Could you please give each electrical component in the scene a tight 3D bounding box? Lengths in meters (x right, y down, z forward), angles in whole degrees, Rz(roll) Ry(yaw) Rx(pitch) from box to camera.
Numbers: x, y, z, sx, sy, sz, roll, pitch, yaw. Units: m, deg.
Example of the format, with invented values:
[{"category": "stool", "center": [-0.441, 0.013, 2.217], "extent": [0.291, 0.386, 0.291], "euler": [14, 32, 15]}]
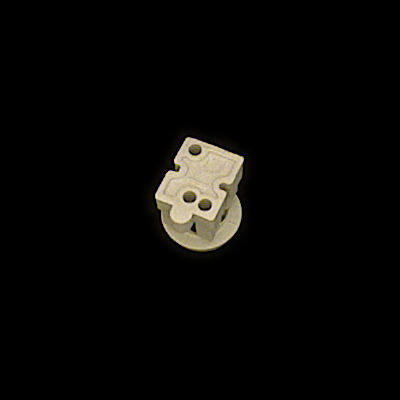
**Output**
[{"category": "electrical component", "center": [0.000, 0.000, 0.637], "extent": [0.048, 0.067, 0.055], "euler": [22, -25, 12]}]
